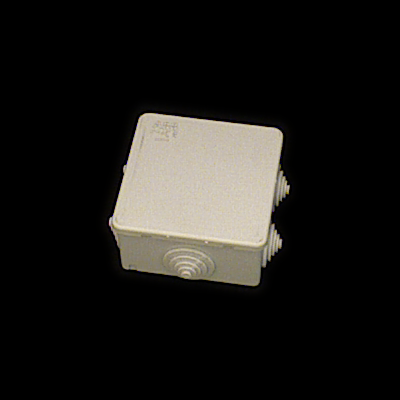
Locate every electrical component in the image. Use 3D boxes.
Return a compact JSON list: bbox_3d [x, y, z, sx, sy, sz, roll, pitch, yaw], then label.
[{"bbox_3d":[0.000,0.000,0.640,0.099,0.099,0.049,8,-37,5],"label":"electrical component"}]
